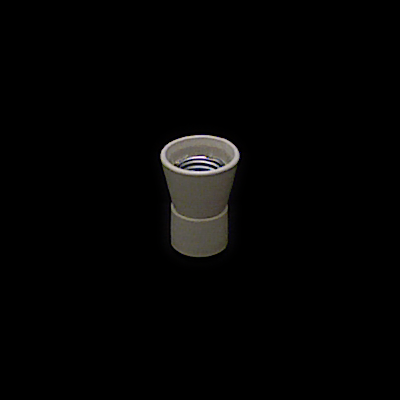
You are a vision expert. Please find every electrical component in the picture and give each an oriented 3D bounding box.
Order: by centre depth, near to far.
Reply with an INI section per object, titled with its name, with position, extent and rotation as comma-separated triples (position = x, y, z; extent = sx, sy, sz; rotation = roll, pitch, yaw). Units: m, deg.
[electrical component]
position = 0.000, 0.000, 0.631
extent = 0.044, 0.066, 0.044
rotation = 1, 32, 0
